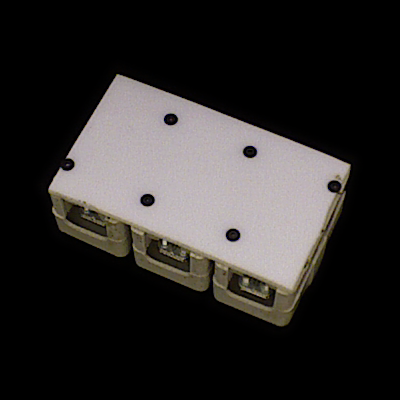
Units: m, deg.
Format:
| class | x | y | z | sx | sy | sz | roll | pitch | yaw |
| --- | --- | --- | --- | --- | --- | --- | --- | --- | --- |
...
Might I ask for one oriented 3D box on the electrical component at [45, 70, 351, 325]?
| class | x | y | z | sx | sy | sz | roll | pitch | yaw |
| --- | --- | --- | --- | --- | --- | --- | --- | --- | --- |
| electrical component | 0.000 | 0.000 | 0.631 | 0.150 | 0.089 | 0.062 | 23 | -25 | 11 |
